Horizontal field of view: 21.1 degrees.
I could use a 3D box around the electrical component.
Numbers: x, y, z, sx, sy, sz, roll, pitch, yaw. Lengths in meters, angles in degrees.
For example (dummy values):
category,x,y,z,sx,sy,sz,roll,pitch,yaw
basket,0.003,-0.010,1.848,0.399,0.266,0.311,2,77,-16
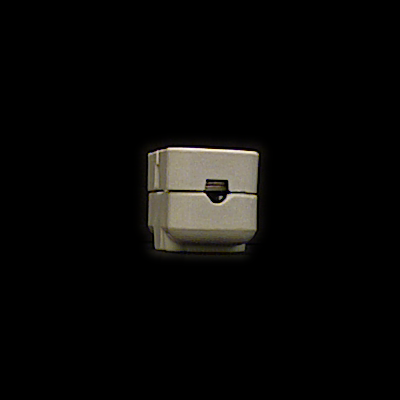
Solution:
category,x,y,z,sx,sy,sz,roll,pitch,yaw
electrical component,0.000,0.000,0.654,0.054,0.059,0.094,1,1,-13
